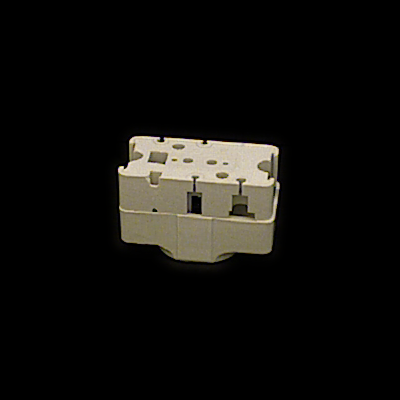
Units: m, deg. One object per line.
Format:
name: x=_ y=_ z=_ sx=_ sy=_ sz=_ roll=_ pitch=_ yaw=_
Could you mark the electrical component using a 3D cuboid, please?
electrical component: x=0.000 y=0.000 z=0.642 sx=0.089 sy=0.056 sz=0.049 roll=4 pitch=33 yaw=5
